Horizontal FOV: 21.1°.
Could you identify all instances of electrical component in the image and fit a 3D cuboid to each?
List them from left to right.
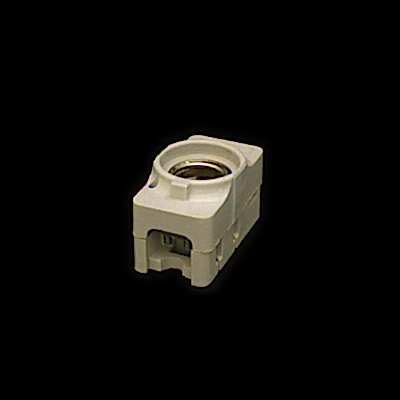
[{"bbox_3d":[0.000,0.000,0.642,0.050,0.056,0.089,13,34,18],"label":"electrical component"}]
